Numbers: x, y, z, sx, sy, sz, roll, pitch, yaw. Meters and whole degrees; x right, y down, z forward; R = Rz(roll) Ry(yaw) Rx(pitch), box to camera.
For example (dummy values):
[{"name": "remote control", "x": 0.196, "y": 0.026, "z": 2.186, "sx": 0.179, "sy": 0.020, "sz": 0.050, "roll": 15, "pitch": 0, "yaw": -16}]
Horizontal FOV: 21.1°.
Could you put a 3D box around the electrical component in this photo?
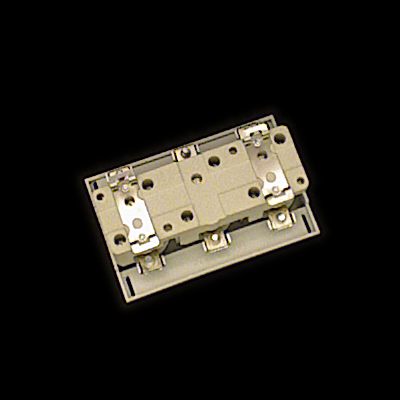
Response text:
[{"name": "electrical component", "x": 0.000, "y": 0.000, "z": 0.633, "sx": 0.122, "sy": 0.079, "sz": 0.062, "roll": -20, "pitch": -15, "yaw": -5}]
